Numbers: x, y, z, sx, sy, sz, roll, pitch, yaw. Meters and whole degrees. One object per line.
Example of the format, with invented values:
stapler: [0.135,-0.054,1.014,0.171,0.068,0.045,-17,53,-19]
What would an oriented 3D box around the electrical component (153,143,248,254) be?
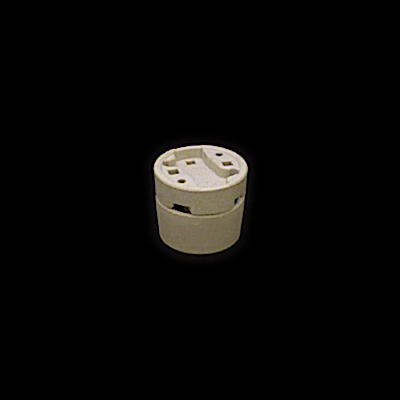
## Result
electrical component: [0.000,0.000,0.639,0.055,0.047,0.055,1,32,0]
